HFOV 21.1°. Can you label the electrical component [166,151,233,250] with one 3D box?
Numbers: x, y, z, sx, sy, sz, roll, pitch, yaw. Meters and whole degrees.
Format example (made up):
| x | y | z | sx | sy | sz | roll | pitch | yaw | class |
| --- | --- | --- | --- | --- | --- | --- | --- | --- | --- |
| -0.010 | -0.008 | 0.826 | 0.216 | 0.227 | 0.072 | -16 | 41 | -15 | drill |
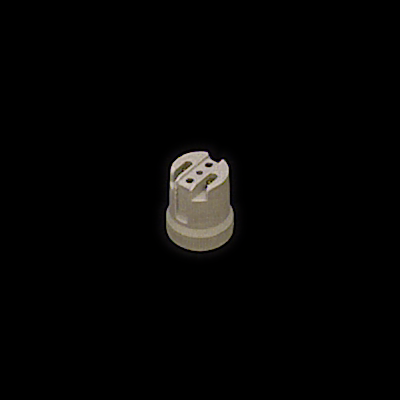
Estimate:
| x | y | z | sx | sy | sz | roll | pitch | yaw | class |
| --- | --- | --- | --- | --- | --- | --- | --- | --- | --- |
| 0.000 | 0.000 | 0.635 | 0.040 | 0.046 | 0.040 | 0 | 42 | 0 | electrical component |
